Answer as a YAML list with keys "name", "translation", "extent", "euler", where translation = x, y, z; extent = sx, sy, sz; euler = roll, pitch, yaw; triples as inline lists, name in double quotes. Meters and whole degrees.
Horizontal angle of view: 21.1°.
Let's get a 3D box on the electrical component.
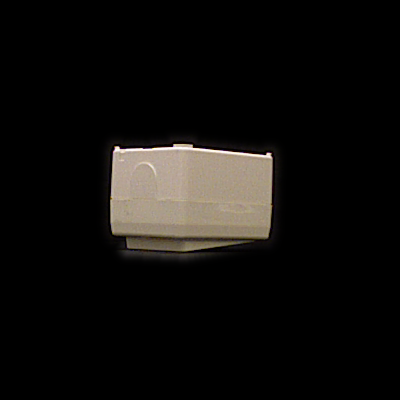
- name: "electrical component"
  translation: [0.000, 0.000, 0.649]
  extent: [0.062, 0.061, 0.096]
  euler: [2, 0, 44]
